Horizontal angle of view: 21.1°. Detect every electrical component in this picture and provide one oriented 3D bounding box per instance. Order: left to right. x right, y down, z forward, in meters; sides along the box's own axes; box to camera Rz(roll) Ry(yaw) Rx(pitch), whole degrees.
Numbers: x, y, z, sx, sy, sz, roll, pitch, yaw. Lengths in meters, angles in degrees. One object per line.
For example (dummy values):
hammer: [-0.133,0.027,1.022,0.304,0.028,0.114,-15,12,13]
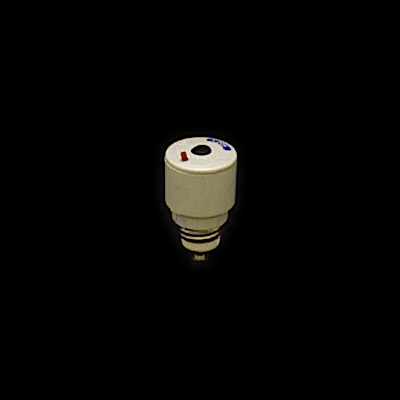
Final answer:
electrical component: [0.000,0.000,0.628,0.040,0.079,0.039,0,32,0]
